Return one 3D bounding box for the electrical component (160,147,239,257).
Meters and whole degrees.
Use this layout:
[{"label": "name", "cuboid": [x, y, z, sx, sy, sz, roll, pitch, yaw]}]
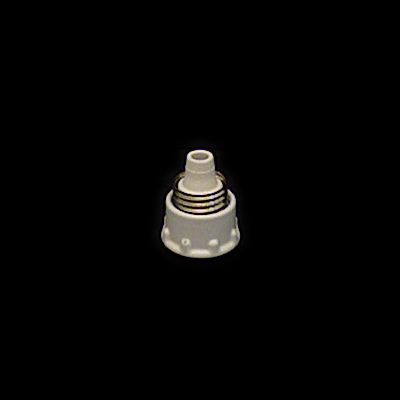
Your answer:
[{"label": "electrical component", "cuboid": [0.000, 0.000, 0.642, 0.048, 0.063, 0.047, 1, 31, 0]}]
